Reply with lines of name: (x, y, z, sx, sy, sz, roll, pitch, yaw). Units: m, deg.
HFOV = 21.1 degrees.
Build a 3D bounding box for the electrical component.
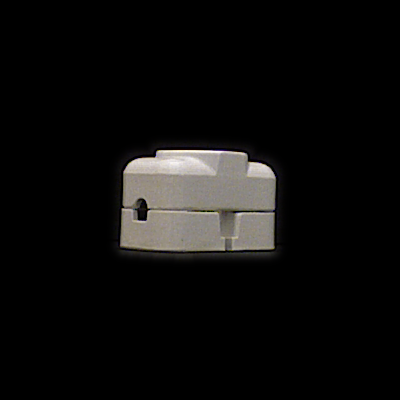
electrical component: (0.000, 0.000, 0.658, 0.096, 0.059, 0.053, 1, 2, -44)
